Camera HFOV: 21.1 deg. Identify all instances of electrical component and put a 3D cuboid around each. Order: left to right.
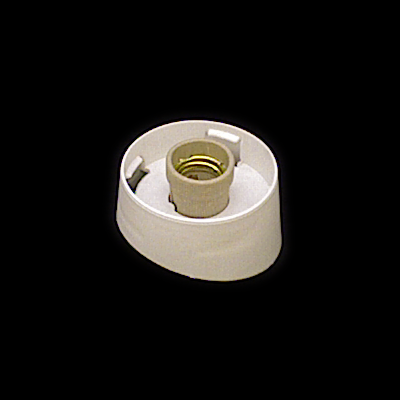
[{"bbox_3d":[0.000,0.000,0.629,0.099,0.064,0.098,1,42,0],"label":"electrical component"}]
